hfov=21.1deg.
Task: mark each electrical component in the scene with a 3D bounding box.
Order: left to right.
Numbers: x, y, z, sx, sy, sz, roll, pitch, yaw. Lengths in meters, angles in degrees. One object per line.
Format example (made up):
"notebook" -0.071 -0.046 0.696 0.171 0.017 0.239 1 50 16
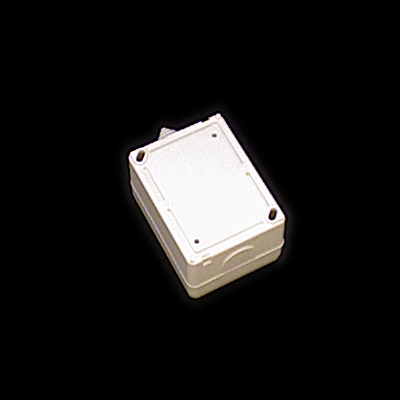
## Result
"electrical component" 0.000 0.000 0.629 0.062 0.096 0.061 -25 -25 -13
